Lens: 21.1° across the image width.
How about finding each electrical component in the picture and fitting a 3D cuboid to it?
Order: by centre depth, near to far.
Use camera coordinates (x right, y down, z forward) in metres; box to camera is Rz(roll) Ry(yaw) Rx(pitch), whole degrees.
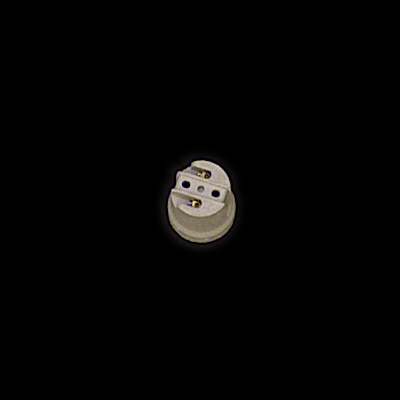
[{"bbox_3d":[0.000,0.000,0.633,0.040,0.040,0.046,0,-17,0],"label":"electrical component"}]
